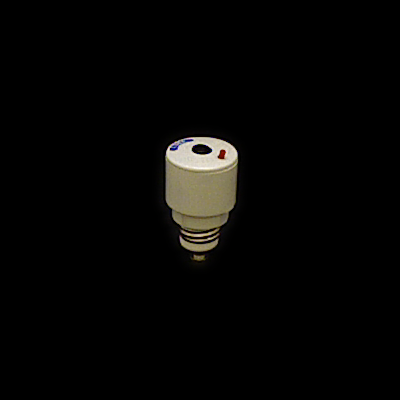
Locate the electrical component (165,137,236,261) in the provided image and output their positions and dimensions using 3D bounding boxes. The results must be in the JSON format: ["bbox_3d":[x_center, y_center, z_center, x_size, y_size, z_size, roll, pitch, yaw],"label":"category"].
[{"bbox_3d":[0.000,0.000,0.627,0.040,0.079,0.039,1,31,-1],"label":"electrical component"}]
